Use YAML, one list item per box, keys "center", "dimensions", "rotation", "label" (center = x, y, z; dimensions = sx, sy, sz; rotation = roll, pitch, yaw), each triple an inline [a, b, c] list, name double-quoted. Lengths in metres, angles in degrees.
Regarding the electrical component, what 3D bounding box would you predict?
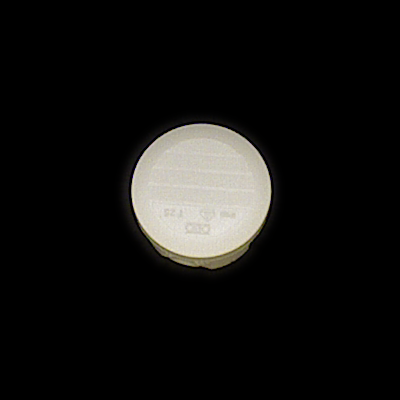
- center: [0.000, 0.000, 0.630]
  dimensions: [0.080, 0.080, 0.050]
  rotation: [0, -17, 0]
  label: "electrical component"
